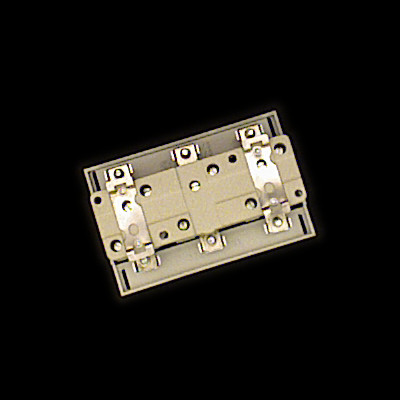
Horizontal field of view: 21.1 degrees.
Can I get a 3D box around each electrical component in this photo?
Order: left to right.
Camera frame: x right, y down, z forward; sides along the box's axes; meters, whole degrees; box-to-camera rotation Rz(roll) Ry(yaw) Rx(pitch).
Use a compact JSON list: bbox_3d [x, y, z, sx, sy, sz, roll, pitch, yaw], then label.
[{"bbox_3d":[0.000,0.000,0.634,0.121,0.079,0.063,-18,-5,-2],"label":"electrical component"}]
